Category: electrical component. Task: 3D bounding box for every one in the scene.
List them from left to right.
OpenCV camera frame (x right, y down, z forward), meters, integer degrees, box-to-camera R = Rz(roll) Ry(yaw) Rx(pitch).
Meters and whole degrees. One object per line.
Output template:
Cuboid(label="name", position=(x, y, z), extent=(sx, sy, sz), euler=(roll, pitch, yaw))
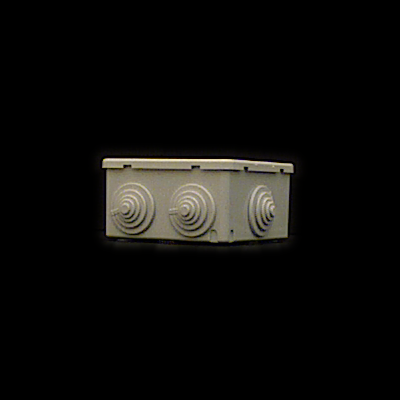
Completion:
Cuboid(label="electrical component", position=(0.000, 0.000, 0.655), extent=(0.099, 0.048, 0.100), euler=(2, 1, 30))
